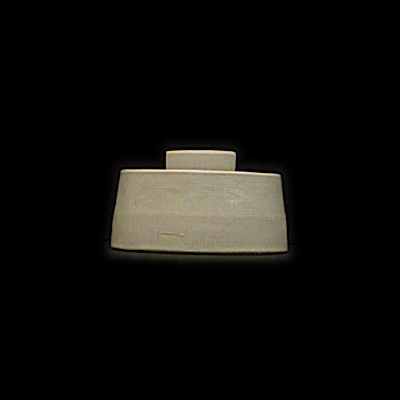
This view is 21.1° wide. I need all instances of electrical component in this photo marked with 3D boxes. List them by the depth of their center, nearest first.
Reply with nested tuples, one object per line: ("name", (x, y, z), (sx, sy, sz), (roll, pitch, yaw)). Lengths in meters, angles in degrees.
("electrical component", (0.000, 0.000, 0.658), (0.108, 0.060, 0.108), (1, 1, 1))
